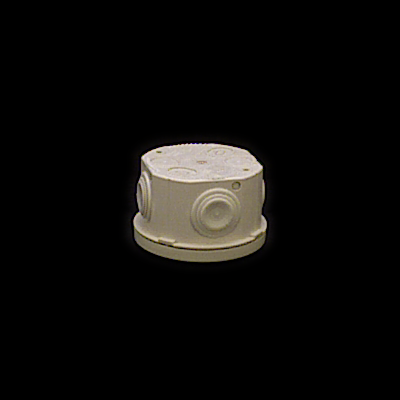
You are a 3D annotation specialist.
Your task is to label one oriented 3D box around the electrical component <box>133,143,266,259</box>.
[{"bbox_3d":[0.000,0.000,0.641,0.080,0.051,0.079,2,21,0],"label":"electrical component"}]
